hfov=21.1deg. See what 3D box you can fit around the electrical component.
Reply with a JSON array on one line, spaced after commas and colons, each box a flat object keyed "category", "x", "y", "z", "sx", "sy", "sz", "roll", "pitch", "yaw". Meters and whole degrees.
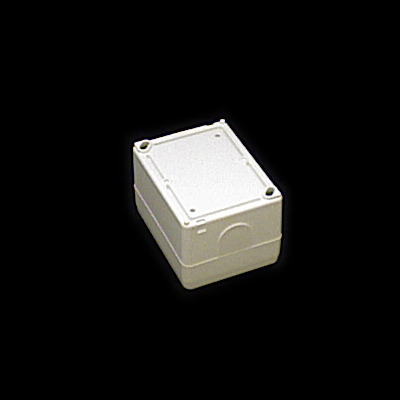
[{"category": "electrical component", "x": 0.000, "y": 0.000, "z": 0.635, "sx": 0.062, "sy": 0.061, "sz": 0.095, "roll": -17, "pitch": 45, "yaw": -18}]
